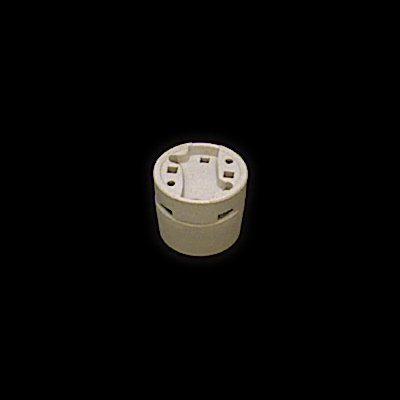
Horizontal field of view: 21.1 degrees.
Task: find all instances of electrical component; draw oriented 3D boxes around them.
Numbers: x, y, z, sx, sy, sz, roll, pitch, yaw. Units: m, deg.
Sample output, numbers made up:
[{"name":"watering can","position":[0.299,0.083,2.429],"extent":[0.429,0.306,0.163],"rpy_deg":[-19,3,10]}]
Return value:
[{"name":"electrical component","position":[0.000,0.000,0.637],"extent":[0.055,0.047,0.055],"rpy_deg":[1,42,0]}]
